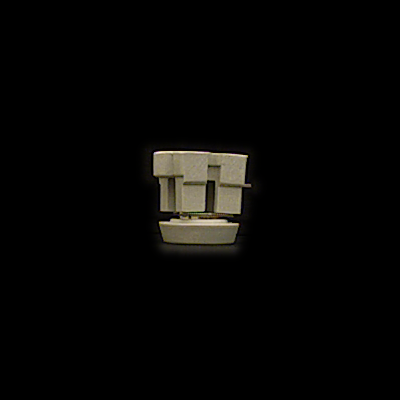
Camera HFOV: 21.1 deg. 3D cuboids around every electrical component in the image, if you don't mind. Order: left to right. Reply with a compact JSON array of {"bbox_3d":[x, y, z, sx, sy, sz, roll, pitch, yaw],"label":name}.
[{"bbox_3d":[0.000,0.000,0.655,0.067,0.055,0.048,1,0,-27],"label":"electrical component"}]
